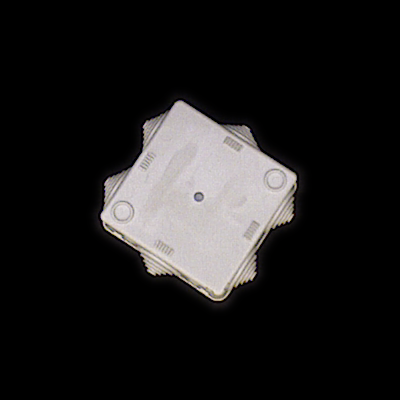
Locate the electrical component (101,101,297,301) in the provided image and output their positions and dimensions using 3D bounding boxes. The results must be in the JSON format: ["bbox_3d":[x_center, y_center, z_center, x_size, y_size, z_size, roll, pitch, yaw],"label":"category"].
[{"bbox_3d":[0.000,0.000,0.632,0.100,0.100,0.048,33,-6,4],"label":"electrical component"}]
